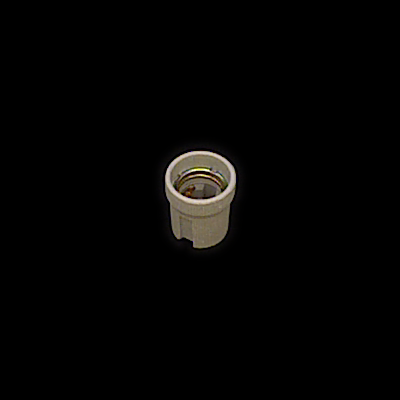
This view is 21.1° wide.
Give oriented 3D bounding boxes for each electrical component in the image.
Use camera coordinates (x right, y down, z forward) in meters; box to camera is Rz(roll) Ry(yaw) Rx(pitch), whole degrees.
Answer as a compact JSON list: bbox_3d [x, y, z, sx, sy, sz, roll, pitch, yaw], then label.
[{"bbox_3d":[0.000,0.000,0.632,0.040,0.039,0.047,0,-38,-1],"label":"electrical component"}]
